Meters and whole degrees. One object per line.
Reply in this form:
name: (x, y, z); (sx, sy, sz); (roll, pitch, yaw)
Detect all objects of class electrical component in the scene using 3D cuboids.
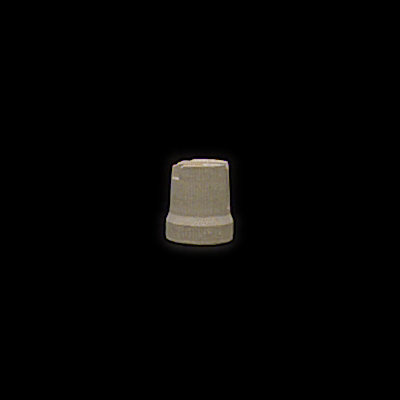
electrical component: (0.000, 0.000, 0.647); (0.040, 0.046, 0.040); (2, 11, 0)
